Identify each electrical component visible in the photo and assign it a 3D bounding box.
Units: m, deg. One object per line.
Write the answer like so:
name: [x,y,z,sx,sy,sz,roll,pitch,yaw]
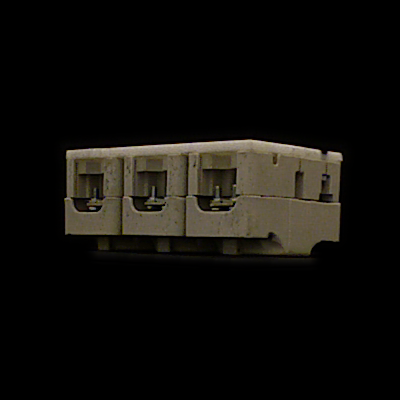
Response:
electrical component: [0.000,0.000,0.656,0.149,0.062,0.090,0,-1,42]
